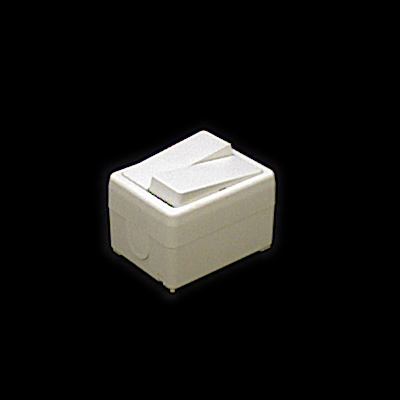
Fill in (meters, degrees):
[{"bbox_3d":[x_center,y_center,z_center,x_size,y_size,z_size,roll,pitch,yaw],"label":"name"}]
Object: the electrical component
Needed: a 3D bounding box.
[{"bbox_3d":[0.000,0.000,0.636,0.096,0.061,0.061,-23,38,-33],"label":"electrical component"}]
